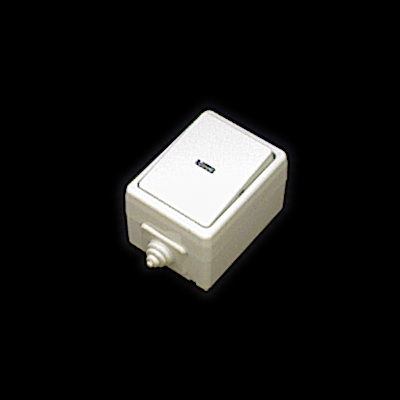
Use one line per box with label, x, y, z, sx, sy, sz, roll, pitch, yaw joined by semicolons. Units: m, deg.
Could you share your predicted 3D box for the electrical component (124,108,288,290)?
electrical component;0.000;0.000;0.627;0.061;0.096;0.061;31;-32;22
